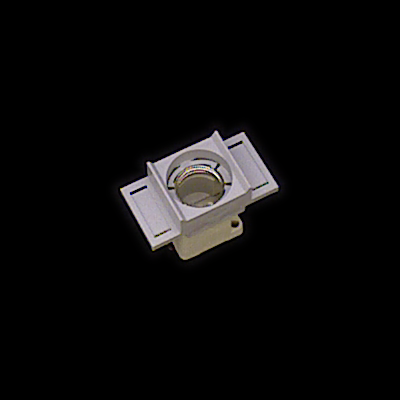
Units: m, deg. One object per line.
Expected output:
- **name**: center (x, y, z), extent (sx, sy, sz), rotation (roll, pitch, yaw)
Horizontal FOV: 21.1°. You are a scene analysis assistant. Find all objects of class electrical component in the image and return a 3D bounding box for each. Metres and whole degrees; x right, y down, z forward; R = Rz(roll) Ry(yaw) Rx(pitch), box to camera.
- **electrical component**: center (0.000, 0.000, 0.625), extent (0.081, 0.042, 0.064), rotation (-25, -25, -12)
